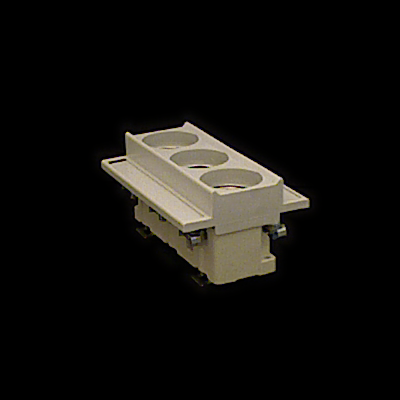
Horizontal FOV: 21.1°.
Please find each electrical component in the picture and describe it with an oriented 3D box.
[{"bbox_3d":[0.000,0.000,0.650,0.079,0.064,0.119,-11,24,-24],"label":"electrical component"}]
